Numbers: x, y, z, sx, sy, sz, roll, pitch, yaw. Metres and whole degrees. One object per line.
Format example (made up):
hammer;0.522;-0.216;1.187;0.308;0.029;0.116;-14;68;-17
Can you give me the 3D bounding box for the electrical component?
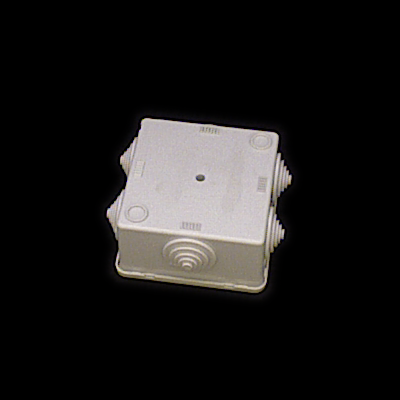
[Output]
electrical component;0.000;0.000;0.633;0.099;0.099;0.049;7;-37;4
